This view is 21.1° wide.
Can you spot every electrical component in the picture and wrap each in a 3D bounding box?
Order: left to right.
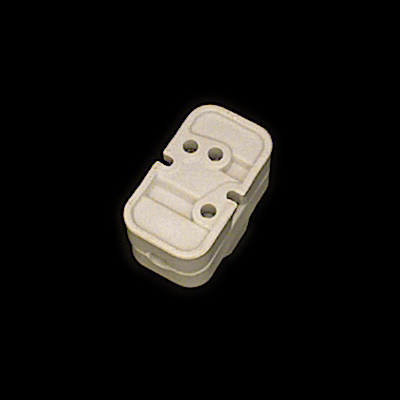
[{"bbox_3d":[0.000,0.000,0.634,0.053,0.096,0.059,28,-23,14],"label":"electrical component"}]
